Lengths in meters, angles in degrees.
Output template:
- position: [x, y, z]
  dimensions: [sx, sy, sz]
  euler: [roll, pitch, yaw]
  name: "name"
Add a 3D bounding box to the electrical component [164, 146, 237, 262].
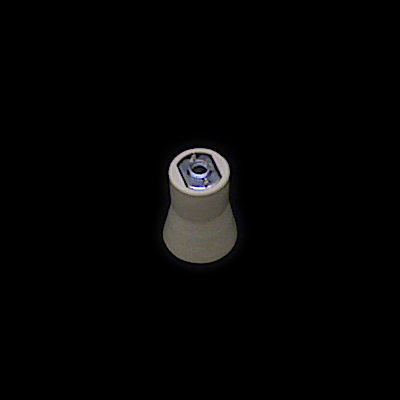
- position: [0.000, 0.000, 0.626]
  dimensions: [0.044, 0.044, 0.065]
  euler: [0, -37, 1]
  name: "electrical component"
